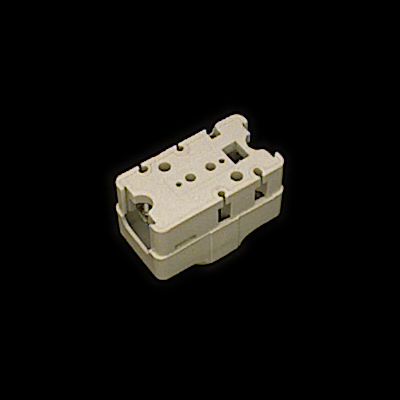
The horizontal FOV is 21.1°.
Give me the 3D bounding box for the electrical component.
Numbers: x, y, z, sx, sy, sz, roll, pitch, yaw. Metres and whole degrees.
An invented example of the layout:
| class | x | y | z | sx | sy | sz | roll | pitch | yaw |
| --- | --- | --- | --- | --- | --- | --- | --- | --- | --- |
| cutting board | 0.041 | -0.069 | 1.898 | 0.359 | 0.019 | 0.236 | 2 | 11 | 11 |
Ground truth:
| class | x | y | z | sx | sy | sz | roll | pitch | yaw |
| --- | --- | --- | --- | --- | --- | --- | --- | --- | --- |
| electrical component | 0.000 | 0.000 | 0.637 | 0.090 | 0.050 | 0.056 | -29 | -32 | -21 |
